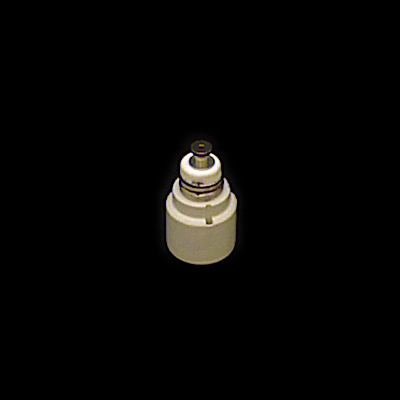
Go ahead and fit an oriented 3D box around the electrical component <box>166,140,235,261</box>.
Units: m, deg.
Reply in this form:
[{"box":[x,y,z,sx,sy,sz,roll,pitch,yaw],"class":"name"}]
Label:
[{"box":[0.000,0.000,0.623,0.040,0.079,0.039,0,41,0],"class":"electrical component"}]
